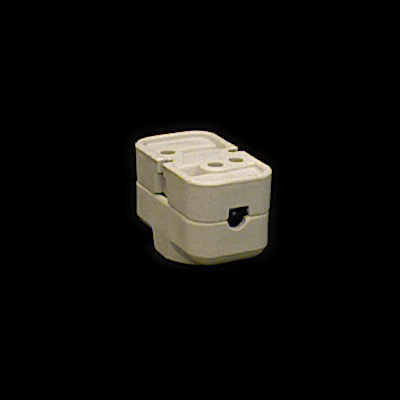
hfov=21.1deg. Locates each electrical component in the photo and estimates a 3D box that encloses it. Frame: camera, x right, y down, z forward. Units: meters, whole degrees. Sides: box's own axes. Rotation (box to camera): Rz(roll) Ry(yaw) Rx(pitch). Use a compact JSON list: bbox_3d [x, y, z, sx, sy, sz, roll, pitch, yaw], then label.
[{"bbox_3d":[0.000,0.000,0.648,0.054,0.060,0.093,-10,24,-26],"label":"electrical component"}]
